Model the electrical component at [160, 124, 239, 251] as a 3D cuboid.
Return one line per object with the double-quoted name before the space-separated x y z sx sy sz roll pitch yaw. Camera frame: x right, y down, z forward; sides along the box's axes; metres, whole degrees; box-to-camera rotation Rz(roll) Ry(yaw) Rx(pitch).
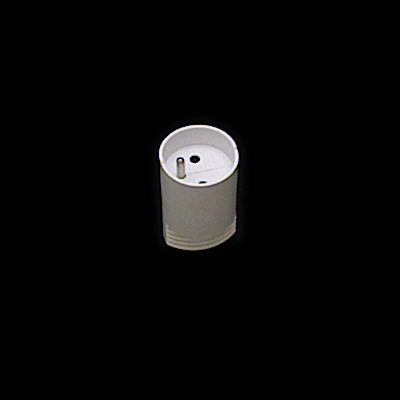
"electrical component" 0.000 0.000 0.617 0.043 0.043 0.081 0 -38 1
